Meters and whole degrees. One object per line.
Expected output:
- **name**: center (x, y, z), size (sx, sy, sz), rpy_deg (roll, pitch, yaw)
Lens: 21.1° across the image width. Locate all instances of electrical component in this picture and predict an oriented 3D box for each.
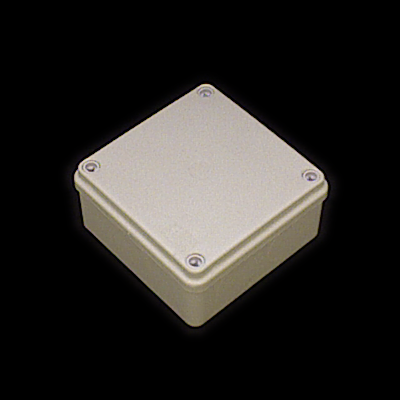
- **electrical component**: center (0.000, 0.000, 0.631), size (0.109, 0.056, 0.108), rpy_deg (-35, 60, -25)
